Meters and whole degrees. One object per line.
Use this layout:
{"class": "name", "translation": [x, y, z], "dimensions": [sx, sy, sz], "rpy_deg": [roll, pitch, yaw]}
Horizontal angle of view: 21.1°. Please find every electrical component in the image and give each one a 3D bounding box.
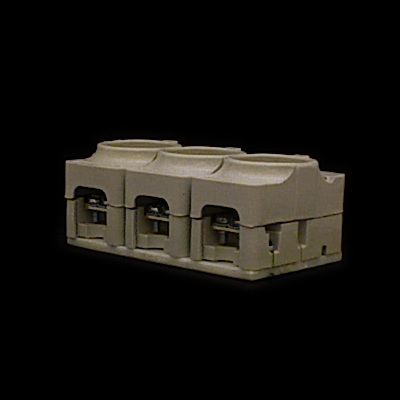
{"class": "electrical component", "translation": [0.000, 0.000, 0.652], "dimensions": [0.149, 0.062, 0.089], "rpy_deg": [10, 13, 39]}
